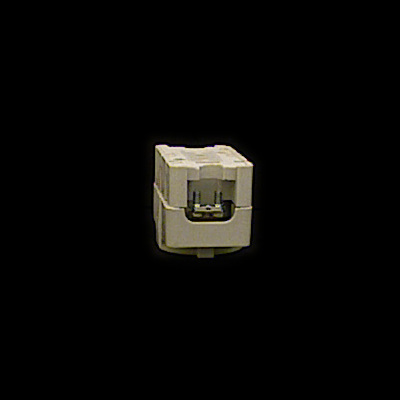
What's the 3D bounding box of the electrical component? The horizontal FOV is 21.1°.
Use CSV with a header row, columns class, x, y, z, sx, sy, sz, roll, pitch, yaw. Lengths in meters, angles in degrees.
class,x,y,z,sx,sy,sz,roll,pitch,yaw
electrical component,0.000,0.000,0.651,0.050,0.056,0.088,0,12,-8
